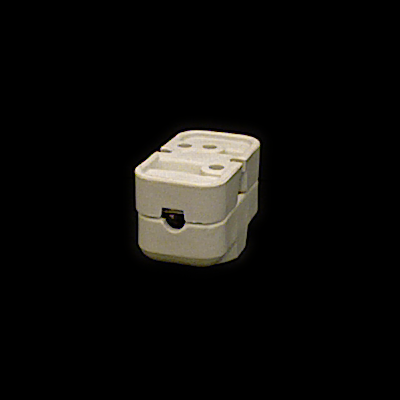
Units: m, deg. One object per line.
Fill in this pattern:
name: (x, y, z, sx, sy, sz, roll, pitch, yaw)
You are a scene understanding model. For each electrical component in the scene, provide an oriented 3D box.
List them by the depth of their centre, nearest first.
electrical component: (0.000, 0.000, 0.645, 0.053, 0.060, 0.094, 8, 23, 17)
